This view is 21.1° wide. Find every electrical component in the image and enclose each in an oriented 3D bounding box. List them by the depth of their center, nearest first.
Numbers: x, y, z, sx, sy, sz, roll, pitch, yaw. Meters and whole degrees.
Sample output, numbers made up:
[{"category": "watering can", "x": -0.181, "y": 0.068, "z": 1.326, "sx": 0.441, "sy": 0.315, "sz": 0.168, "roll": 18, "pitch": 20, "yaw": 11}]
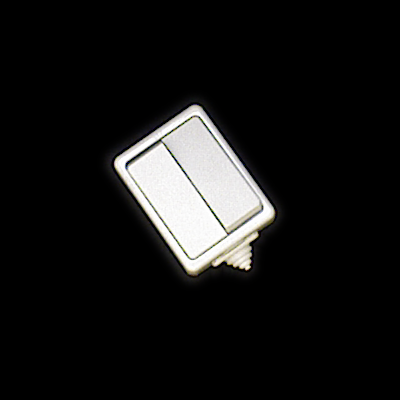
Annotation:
[{"category": "electrical component", "x": 0.000, "y": 0.000, "z": 0.626, "sx": 0.062, "sy": 0.096, "sz": 0.061, "roll": -35, "pitch": -6, "yaw": -3}]
